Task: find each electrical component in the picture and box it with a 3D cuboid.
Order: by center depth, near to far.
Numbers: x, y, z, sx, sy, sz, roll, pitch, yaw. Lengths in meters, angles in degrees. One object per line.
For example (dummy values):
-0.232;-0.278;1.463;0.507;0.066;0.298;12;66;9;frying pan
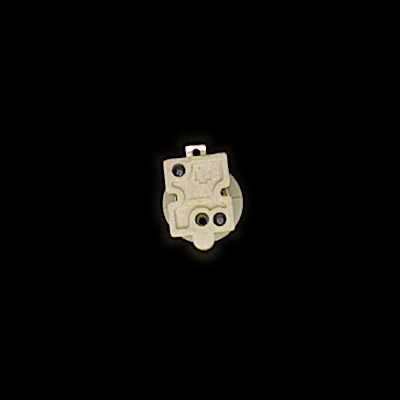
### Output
0.000;0.000;0.639;0.048;0.066;0.055;-6;-7;1;electrical component
